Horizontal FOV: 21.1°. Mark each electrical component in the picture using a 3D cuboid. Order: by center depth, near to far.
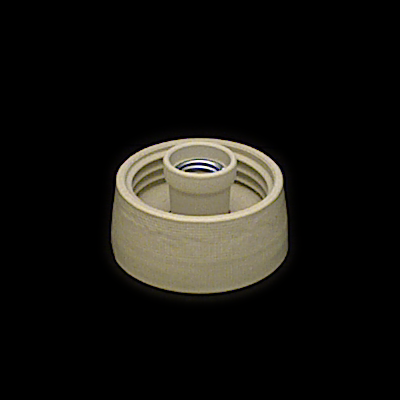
[{"bbox_3d":[0.000,0.000,0.640,0.108,0.061,0.106,1,32,0],"label":"electrical component"}]
